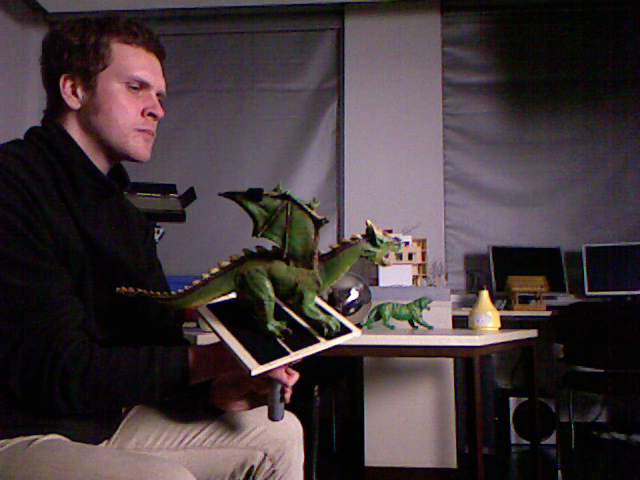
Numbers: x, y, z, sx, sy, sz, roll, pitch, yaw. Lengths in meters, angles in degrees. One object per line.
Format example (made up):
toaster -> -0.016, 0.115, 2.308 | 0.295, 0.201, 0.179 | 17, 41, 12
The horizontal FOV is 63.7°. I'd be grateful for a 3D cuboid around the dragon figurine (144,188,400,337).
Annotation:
dragon figurine -> -0.082, 0.025, 0.801 | 0.411, 0.238, 0.125 | 2, 29, -2
